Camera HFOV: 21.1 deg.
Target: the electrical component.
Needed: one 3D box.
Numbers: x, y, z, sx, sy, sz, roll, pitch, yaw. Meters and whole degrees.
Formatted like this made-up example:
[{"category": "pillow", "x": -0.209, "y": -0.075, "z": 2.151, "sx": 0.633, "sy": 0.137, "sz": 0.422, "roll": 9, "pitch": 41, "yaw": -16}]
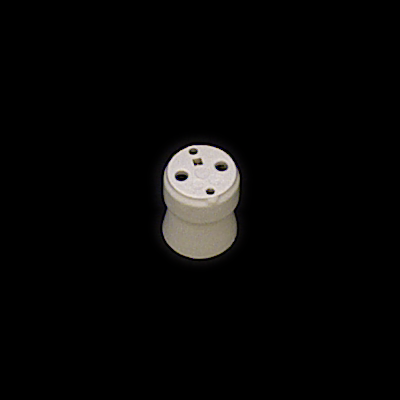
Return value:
[{"category": "electrical component", "x": 0.000, "y": 0.000, "z": 0.630, "sx": 0.045, "sy": 0.044, "sz": 0.055, "roll": 0, "pitch": -37, "yaw": -1}]
